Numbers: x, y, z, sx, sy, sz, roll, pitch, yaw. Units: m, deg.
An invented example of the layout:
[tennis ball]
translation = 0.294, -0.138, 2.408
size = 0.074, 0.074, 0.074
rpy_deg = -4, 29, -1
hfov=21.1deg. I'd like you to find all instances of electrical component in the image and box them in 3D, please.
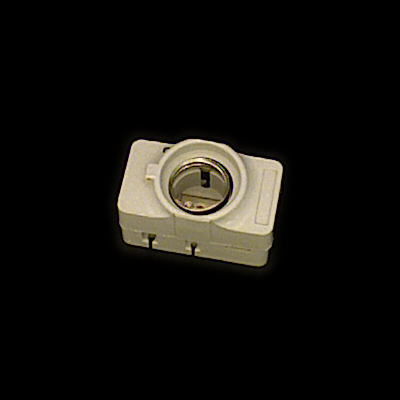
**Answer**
[electrical component]
translation = 0.000, 0.000, 0.636
size = 0.089, 0.050, 0.055
rpy_deg = 9, -26, 4
